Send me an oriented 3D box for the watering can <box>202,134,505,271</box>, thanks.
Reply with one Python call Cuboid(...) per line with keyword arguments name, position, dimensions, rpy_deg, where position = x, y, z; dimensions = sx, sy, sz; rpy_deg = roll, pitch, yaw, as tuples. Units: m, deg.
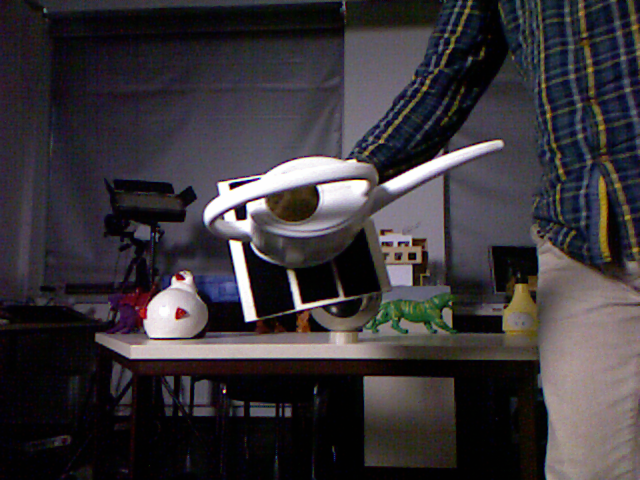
Cuboid(name="watering can", position=(0.035, -0.044, 0.634), dimensions=(0.349, 0.105, 0.221), rpy_deg=(-12, -17, -9))
